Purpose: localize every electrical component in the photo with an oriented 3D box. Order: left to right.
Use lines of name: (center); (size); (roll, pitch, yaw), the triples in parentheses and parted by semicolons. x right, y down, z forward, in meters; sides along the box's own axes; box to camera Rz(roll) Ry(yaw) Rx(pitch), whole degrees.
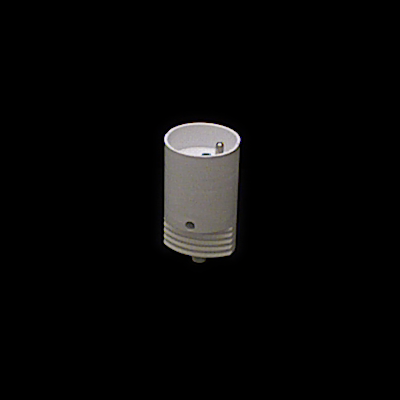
electrical component: (0.000, 0.000, 0.630); (0.043, 0.082, 0.042); (1, 32, -1)
